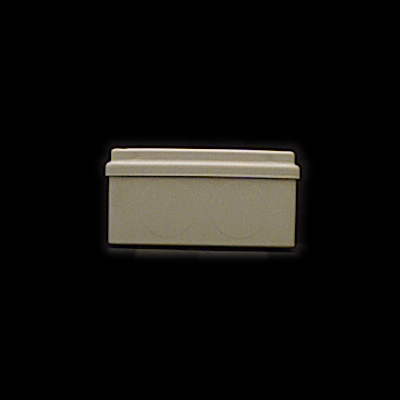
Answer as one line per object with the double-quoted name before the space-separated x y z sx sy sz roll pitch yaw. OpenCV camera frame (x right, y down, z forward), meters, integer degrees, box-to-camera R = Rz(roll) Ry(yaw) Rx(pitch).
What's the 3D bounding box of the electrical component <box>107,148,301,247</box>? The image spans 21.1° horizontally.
"electrical component" 0.000 0.000 0.648 0.109 0.056 0.108 1 0 -3
